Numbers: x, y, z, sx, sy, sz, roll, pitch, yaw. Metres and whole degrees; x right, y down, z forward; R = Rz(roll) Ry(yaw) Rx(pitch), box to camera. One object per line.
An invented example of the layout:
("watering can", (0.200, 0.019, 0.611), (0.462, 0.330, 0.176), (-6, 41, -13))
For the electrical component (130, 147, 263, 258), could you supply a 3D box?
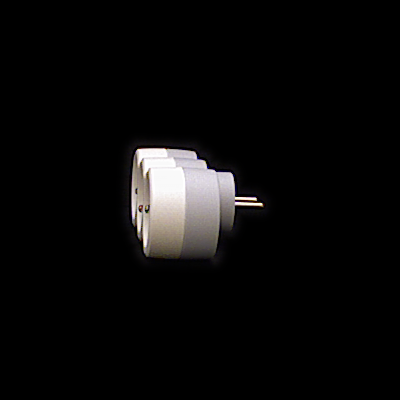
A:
("electrical component", (0.000, 0.000, 0.648), (0.074, 0.052, 0.137), (2, 9, -9))
